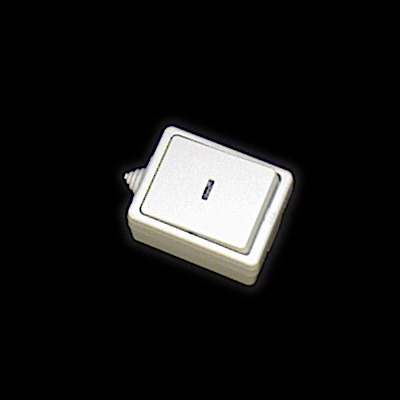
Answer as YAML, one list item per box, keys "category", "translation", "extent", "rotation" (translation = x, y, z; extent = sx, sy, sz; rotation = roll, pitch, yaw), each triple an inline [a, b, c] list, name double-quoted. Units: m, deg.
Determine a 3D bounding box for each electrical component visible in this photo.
- category: "electrical component"
  translation: [0.000, 0.000, 0.626]
  extent: [0.096, 0.062, 0.060]
  rotation: [21, -16, 6]
